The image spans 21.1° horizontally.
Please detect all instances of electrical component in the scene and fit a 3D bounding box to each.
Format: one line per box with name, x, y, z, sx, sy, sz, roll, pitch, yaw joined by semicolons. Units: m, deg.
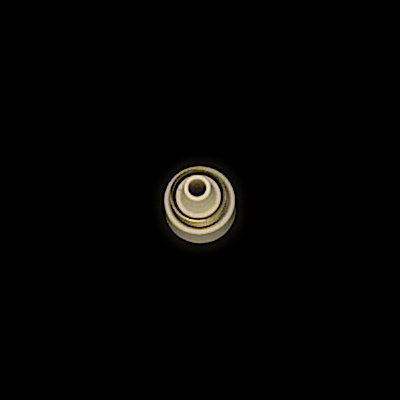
electrical component;0.000;0.000;0.634;0.043;0.043;0.061;0;-15;1
